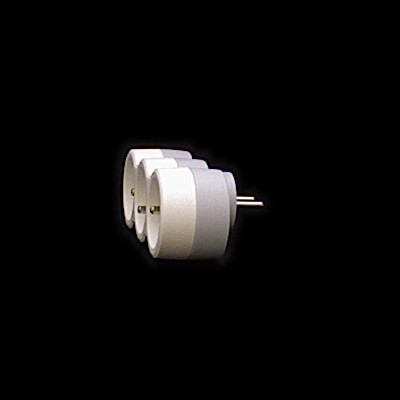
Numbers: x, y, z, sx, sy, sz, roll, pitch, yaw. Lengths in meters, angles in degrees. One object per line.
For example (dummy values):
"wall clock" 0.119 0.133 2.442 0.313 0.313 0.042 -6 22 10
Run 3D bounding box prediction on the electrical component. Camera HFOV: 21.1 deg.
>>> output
"electrical component" 0.000 0.000 0.648 0.074 0.052 0.137 1 9 -14
